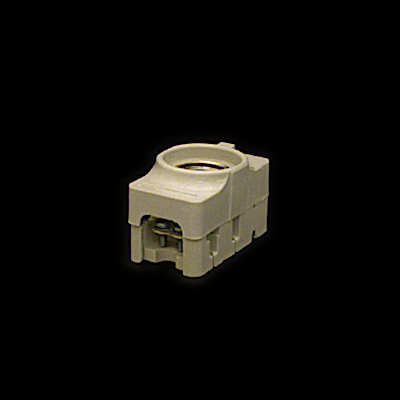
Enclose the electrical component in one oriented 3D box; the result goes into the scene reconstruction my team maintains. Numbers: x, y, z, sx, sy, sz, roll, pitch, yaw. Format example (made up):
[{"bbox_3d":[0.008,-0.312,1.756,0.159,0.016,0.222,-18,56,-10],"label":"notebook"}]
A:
[{"bbox_3d":[0.000,0.000,0.646,0.049,0.056,0.089,13,25,27],"label":"electrical component"}]
